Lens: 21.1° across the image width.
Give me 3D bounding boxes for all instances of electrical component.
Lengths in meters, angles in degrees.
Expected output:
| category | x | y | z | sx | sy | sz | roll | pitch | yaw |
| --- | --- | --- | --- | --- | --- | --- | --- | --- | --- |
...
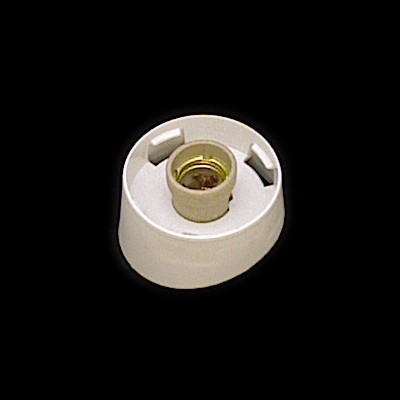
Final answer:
| category | x | y | z | sx | sy | sz | roll | pitch | yaw |
| --- | --- | --- | --- | --- | --- | --- | --- | --- | --- |
| electrical component | 0.000 | 0.000 | 0.627 | 0.099 | 0.098 | 0.064 | 0 | -37 | 0 |
